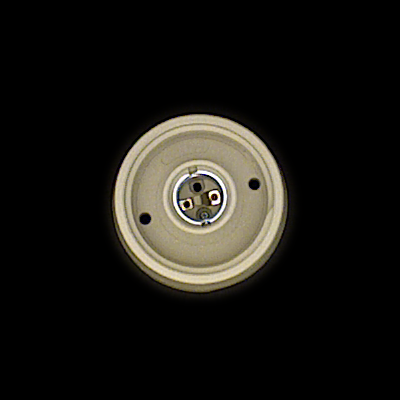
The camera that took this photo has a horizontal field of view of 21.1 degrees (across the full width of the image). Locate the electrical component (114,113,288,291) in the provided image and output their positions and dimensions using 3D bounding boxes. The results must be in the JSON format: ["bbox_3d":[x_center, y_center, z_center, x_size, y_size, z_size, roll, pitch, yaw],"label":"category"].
[{"bbox_3d":[0.000,0.000,0.634,0.108,0.108,0.060,0,-6,0],"label":"electrical component"}]
